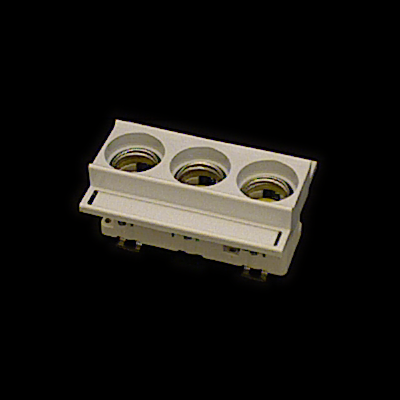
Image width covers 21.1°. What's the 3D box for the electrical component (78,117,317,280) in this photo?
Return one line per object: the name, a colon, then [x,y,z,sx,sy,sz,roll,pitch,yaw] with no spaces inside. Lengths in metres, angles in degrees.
electrical component: [0.000,0.000,0.641,0.121,0.063,0.078,13,45,13]
